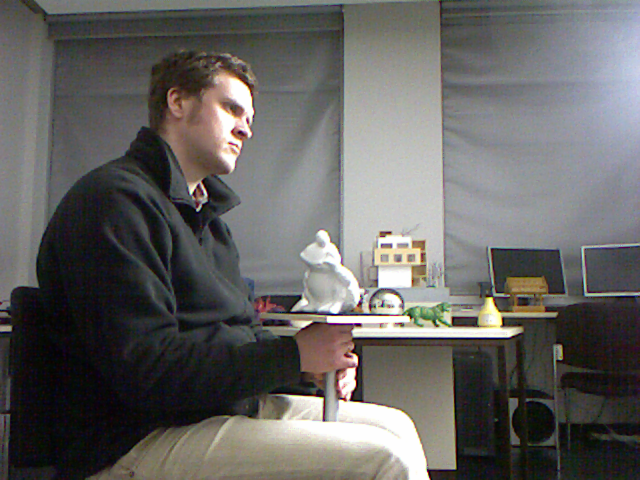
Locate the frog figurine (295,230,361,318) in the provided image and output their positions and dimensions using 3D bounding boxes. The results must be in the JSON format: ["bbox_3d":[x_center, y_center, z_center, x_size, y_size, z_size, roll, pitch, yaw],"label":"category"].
[{"bbox_3d":[0.016,0.062,0.966,0.123,0.160,0.137,3,-4,-20],"label":"frog figurine"}]
